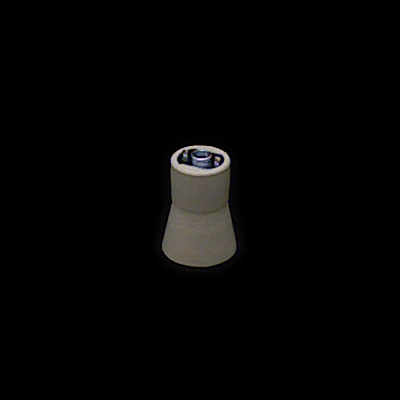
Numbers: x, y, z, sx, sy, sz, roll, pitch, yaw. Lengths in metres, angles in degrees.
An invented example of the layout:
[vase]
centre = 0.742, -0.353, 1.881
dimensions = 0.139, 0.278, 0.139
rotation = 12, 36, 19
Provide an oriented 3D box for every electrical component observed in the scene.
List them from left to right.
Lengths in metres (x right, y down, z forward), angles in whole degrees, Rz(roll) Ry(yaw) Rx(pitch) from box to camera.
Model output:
[electrical component]
centre = 0.000, 0.000, 0.632
dimensions = 0.044, 0.066, 0.044
rotation = 1, 33, 0
